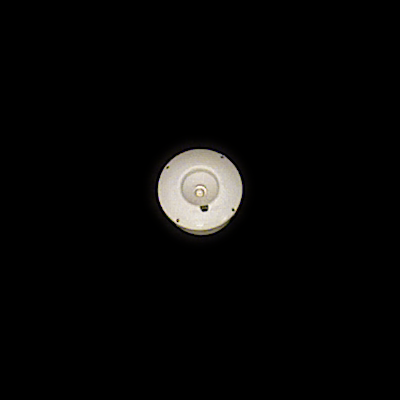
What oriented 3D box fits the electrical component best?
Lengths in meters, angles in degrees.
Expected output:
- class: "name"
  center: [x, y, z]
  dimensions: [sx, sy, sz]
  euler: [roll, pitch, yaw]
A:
- class: "electrical component"
  center: [0.000, 0.000, 0.633]
  dimensions: [0.048, 0.048, 0.061]
  euler: [0, -16, 1]
